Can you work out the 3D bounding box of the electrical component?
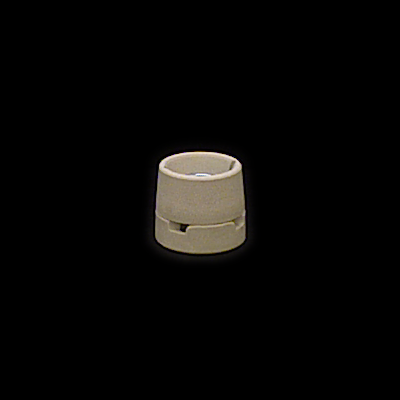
[{"bbox_3d":[0.000,0.000,0.641,0.055,0.047,0.055,0,21,0],"label":"electrical component"}]
